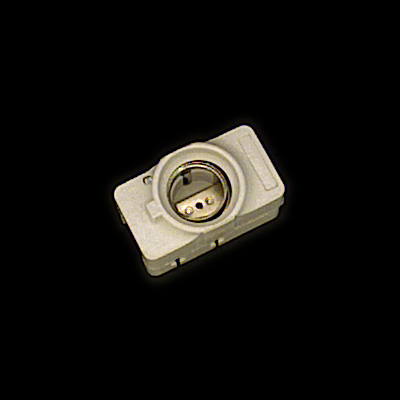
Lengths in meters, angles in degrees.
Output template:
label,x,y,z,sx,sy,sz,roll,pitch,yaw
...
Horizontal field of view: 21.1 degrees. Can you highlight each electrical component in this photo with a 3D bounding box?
label,x,y,z,sx,sy,sz,roll,pitch,yaw
electrical component,0.000,0.000,0.636,0.090,0.050,0.055,-27,-15,-8
